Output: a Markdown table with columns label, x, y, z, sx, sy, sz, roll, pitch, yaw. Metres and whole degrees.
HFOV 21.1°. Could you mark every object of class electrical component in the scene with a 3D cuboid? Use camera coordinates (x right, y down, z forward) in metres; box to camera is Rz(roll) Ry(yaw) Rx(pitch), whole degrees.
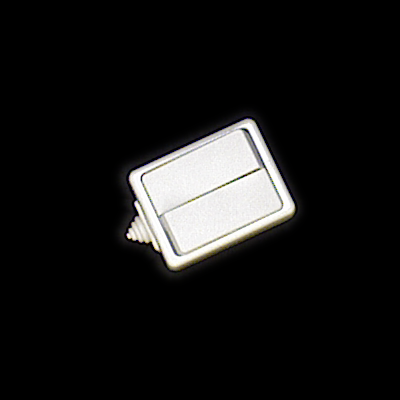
| label | x | y | z | sx | sy | sz | roll | pitch | yaw |
| --- | --- | --- | --- | --- | --- | --- | --- | --- | --- |
| electrical component | 0.000 | 0.000 | 0.627 | 0.096 | 0.062 | 0.061 | -25 | -6 | -3 |
